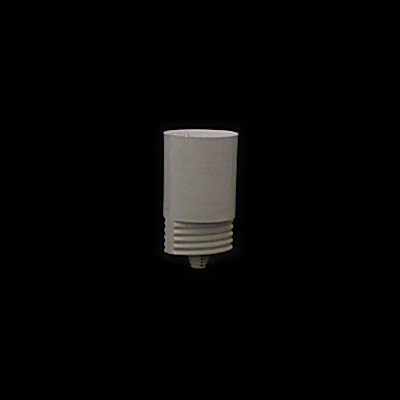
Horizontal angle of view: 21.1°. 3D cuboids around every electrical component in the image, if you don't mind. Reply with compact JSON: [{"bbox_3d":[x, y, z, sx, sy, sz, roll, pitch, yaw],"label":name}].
[{"bbox_3d":[0.000,0.000,0.639,0.043,0.081,0.043,0,11,0],"label":"electrical component"}]
